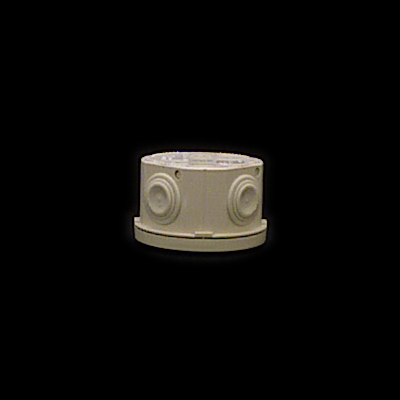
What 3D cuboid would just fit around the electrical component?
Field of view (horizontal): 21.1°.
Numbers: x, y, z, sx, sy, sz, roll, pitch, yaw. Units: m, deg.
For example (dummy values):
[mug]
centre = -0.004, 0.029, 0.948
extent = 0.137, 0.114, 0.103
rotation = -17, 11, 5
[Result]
[electrical component]
centre = 0.000, 0.000, 0.646
extent = 0.080, 0.051, 0.079
rotation = 2, 10, 0
